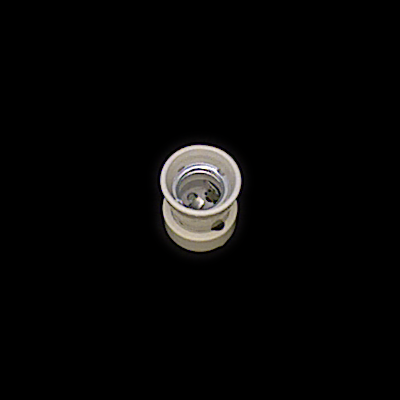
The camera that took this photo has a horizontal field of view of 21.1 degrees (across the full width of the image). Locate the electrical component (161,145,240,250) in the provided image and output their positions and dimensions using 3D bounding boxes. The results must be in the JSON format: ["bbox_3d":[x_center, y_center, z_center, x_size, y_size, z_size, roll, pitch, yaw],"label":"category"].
[{"bbox_3d":[0.000,0.000,0.629,0.045,0.045,0.055,0,-27,-1],"label":"electrical component"}]
